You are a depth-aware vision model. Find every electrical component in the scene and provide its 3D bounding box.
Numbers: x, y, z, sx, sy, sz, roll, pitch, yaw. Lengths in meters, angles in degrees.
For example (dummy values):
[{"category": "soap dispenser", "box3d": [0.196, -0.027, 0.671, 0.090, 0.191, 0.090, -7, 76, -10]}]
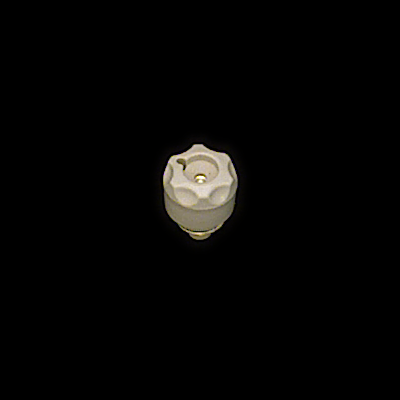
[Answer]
[{"category": "electrical component", "box3d": [0.000, 0.000, 0.635, 0.043, 0.043, 0.062, 0, -37, -1]}]
